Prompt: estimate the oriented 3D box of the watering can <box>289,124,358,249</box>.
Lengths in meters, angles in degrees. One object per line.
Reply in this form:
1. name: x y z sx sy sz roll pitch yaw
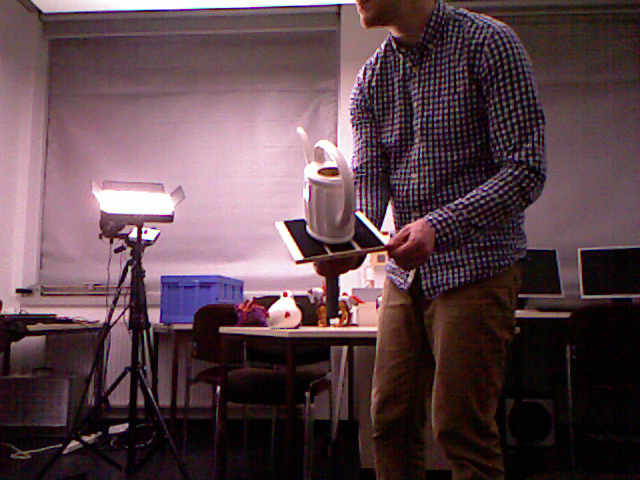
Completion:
1. watering can: 0.002 -0.117 1.100 0.104 0.220 0.354 -9 28 -17
